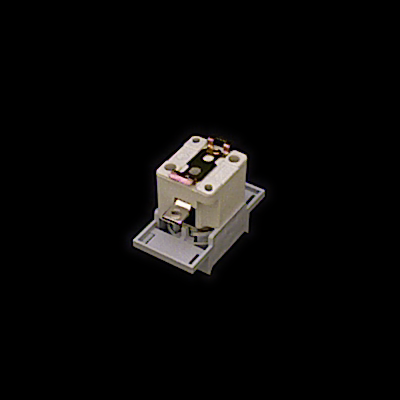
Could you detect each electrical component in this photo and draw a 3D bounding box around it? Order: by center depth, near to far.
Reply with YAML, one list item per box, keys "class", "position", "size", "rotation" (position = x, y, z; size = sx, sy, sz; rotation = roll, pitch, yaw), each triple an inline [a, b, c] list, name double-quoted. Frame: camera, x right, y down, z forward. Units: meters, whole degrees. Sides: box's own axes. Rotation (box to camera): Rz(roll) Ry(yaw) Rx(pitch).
- class: "electrical component"
  position: [0.000, 0.000, 0.630]
  size: [0.042, 0.064, 0.080]
  rotation: [23, 47, 23]
